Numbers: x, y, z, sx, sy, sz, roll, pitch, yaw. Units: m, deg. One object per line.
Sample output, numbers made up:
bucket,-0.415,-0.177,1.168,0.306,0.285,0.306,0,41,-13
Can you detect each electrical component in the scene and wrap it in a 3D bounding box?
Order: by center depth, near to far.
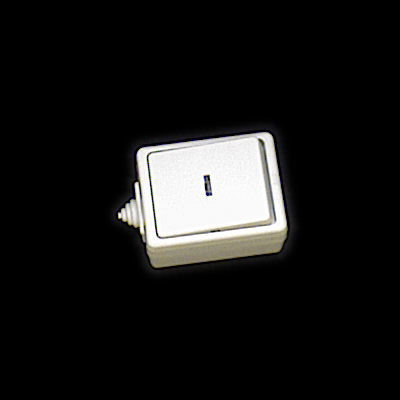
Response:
electrical component,0.000,0.000,0.626,0.096,0.062,0.060,-7,-17,-2
